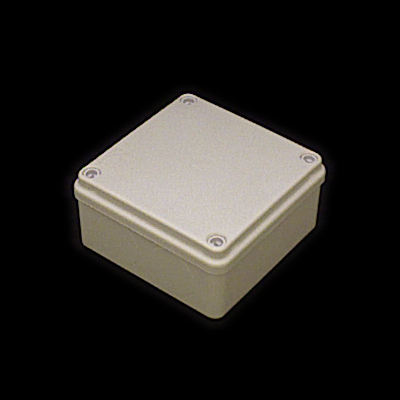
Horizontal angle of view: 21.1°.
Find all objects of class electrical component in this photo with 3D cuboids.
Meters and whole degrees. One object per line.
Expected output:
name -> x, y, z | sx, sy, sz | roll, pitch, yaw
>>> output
electrical component -> 0.000, 0.000, 0.632 | 0.108, 0.056, 0.108 | 28, 48, 26
